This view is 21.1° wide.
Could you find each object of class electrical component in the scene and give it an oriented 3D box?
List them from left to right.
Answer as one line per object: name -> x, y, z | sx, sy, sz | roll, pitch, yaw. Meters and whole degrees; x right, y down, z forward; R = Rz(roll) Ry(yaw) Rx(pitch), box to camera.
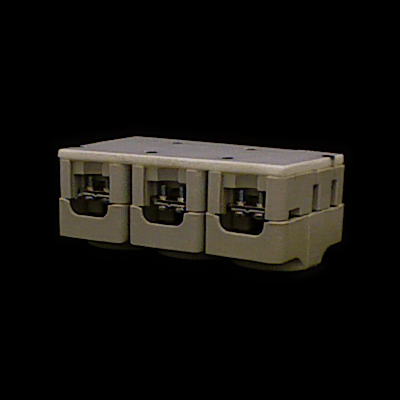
electrical component -> 0.000, 0.000, 0.651 | 0.150, 0.062, 0.088 | 7, 12, 29
